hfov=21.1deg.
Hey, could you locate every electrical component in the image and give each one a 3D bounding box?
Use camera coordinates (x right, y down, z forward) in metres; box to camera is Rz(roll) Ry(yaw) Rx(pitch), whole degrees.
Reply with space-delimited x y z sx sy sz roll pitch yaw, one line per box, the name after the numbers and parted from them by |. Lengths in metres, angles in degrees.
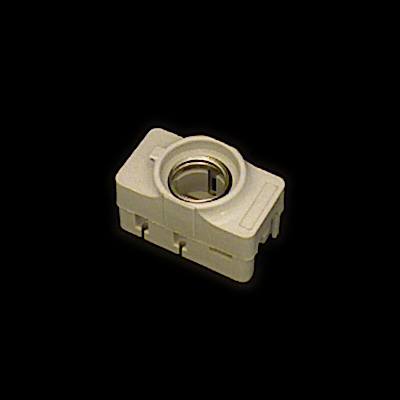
0.000 0.000 0.638 0.089 0.050 0.056 23 -34 16 | electrical component
